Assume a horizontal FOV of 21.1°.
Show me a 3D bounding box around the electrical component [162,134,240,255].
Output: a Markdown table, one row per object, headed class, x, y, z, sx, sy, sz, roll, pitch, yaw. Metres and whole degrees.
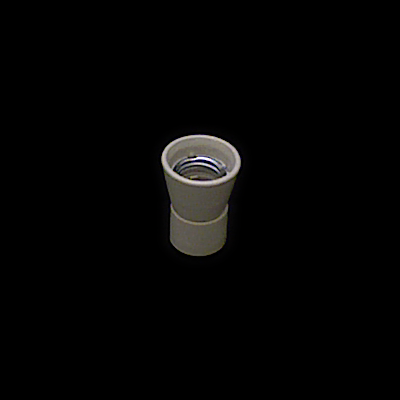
| class | x | y | z | sx | sy | sz | roll | pitch | yaw |
| --- | --- | --- | --- | --- | --- | --- | --- | --- | --- |
| electrical component | 0.000 | 0.000 | 0.630 | 0.044 | 0.066 | 0.044 | 1 | 41 | -1 |
